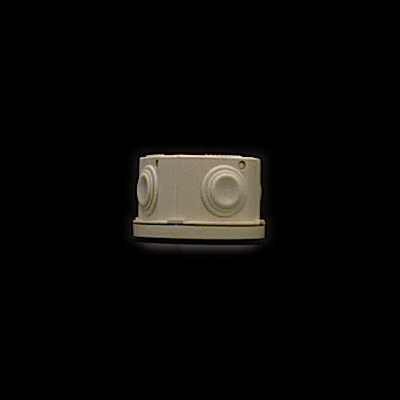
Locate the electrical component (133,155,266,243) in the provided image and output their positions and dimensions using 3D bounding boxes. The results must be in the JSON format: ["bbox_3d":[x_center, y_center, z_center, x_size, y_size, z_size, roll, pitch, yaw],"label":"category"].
[{"bbox_3d":[0.000,0.000,0.650,0.080,0.051,0.080,1,0,0],"label":"electrical component"}]
